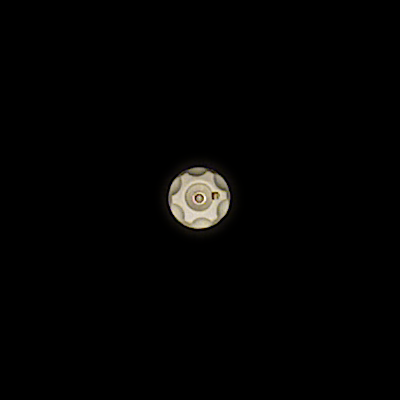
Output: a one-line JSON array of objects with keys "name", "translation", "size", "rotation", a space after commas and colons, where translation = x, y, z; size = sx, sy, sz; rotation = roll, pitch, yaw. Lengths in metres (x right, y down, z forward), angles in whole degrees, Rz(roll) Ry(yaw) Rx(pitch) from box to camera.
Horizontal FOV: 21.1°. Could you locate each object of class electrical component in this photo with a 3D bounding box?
[{"name": "electrical component", "translation": [0.000, 0.000, 0.634], "size": [0.035, 0.035, 0.061], "rotation": [0, -5, 0]}]
